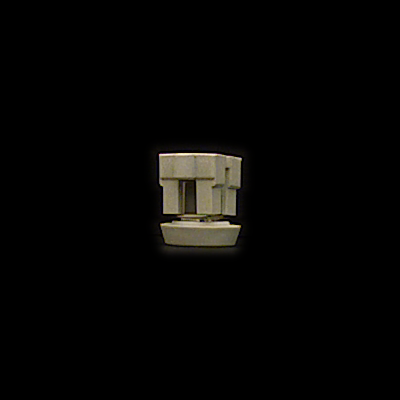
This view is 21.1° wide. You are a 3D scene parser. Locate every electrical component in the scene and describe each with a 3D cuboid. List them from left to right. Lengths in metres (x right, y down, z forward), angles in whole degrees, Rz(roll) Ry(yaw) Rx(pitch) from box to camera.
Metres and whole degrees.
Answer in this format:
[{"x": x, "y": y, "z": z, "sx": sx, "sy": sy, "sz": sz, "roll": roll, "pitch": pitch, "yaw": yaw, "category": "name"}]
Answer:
[{"x": 0.000, "y": 0.000, "z": 0.655, "sx": 0.048, "sy": 0.055, "sz": 0.067, "roll": 1, "pitch": 0, "yaw": 24, "category": "electrical component"}]
